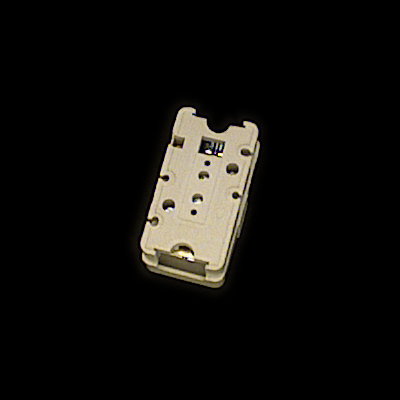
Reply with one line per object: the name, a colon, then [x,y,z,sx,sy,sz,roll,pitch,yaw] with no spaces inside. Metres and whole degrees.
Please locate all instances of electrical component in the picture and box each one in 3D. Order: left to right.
electrical component: [0.000,0.000,0.636,0.050,0.090,0.055,14,-16,5]
